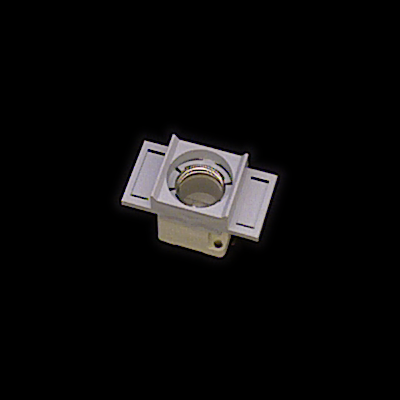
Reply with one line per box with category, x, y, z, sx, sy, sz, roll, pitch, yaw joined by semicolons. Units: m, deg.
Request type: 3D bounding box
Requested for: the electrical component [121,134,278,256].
electrical component;0.000;0.000;0.624;0.081;0.042;0.063;16;-27;8
